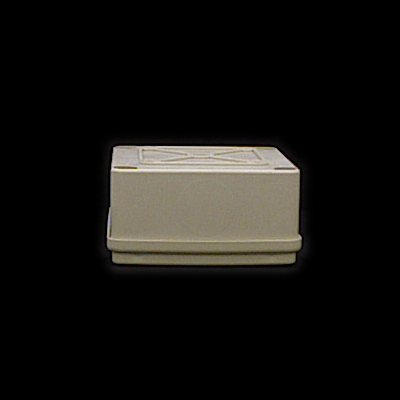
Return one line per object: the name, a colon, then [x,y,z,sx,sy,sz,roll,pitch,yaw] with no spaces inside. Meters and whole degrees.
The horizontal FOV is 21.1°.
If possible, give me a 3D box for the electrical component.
electrical component: [0.000,0.000,0.641,0.109,0.056,0.108,0,10,-4]
